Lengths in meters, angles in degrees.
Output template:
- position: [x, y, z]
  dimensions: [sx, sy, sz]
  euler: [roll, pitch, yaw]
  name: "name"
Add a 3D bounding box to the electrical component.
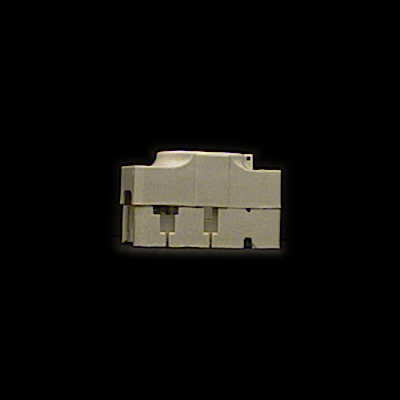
- position: [0.000, 0.000, 0.656]
  dimensions: [0.090, 0.056, 0.050]
  euler: [1, 1, -16]
  name: "electrical component"
